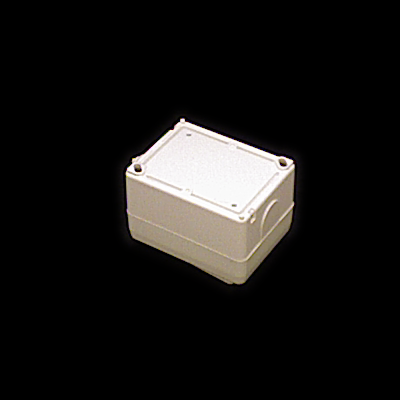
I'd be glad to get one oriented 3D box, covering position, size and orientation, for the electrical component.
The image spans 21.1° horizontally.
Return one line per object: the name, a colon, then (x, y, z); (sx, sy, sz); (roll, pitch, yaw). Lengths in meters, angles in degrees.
electrical component: (0.000, 0.000, 0.634); (0.096, 0.061, 0.061); (22, 46, 23)
